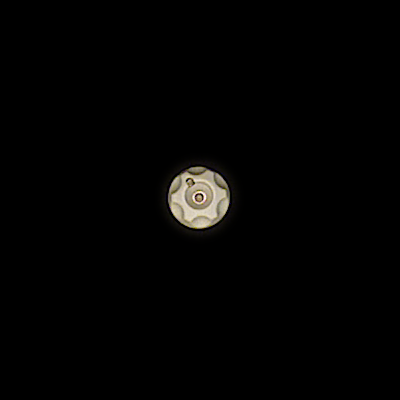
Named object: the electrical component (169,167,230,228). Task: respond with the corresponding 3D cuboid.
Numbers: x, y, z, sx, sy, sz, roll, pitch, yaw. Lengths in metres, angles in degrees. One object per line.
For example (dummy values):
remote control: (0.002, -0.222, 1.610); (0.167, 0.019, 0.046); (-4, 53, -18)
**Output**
electrical component: (0.000, 0.000, 0.635); (0.035, 0.035, 0.061); (0, -6, 1)
